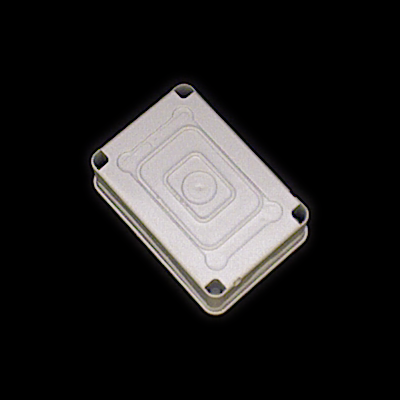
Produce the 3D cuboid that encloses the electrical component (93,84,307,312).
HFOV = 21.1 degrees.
[{"bbox_3d":[0.000,0.000,0.627,0.078,0.113,0.057,-40,-13,-11],"label":"electrical component"}]
